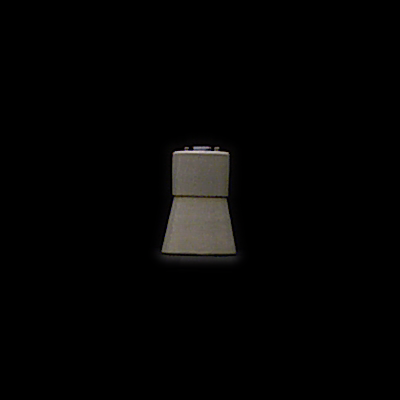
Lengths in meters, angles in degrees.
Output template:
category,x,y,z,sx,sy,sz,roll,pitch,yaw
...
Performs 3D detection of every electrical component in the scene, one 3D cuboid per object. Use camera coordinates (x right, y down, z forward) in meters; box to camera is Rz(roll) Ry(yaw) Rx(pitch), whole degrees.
category,x,y,z,sx,sy,sz,roll,pitch,yaw
electrical component,0.000,0.000,0.648,0.044,0.065,0.044,1,2,0
